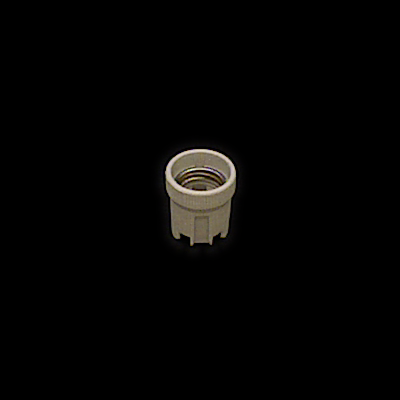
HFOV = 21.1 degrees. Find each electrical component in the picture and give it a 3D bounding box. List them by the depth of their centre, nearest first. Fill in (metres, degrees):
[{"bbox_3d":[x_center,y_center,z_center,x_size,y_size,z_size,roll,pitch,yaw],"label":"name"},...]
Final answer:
[{"bbox_3d":[0.000,0.000,0.631,0.040,0.047,0.039,1,42,0],"label":"electrical component"}]
